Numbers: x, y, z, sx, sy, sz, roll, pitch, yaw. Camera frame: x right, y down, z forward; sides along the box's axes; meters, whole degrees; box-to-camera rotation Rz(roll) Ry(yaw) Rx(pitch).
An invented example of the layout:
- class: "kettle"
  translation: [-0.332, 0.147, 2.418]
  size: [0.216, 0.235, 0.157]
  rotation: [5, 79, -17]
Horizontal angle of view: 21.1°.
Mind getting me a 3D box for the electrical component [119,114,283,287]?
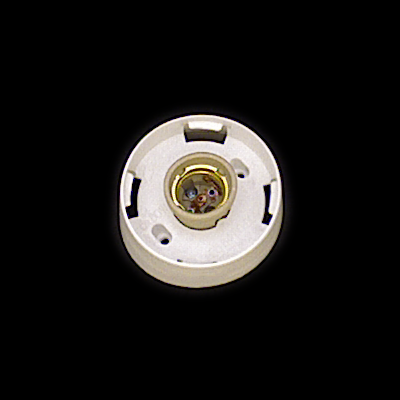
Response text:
- class: "electrical component"
  translation: [0.000, 0.000, 0.624]
  size: [0.099, 0.099, 0.064]
  rotation: [0, -17, 0]
